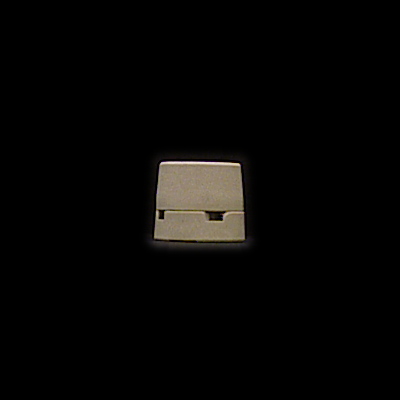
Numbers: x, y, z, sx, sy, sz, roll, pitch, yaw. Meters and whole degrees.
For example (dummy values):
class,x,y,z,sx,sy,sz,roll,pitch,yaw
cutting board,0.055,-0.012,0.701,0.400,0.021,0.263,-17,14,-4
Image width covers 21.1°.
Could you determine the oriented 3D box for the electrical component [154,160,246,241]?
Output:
class,x,y,z,sx,sy,sz,roll,pitch,yaw
electrical component,0.000,0.000,0.648,0.055,0.047,0.055,0,1,0
